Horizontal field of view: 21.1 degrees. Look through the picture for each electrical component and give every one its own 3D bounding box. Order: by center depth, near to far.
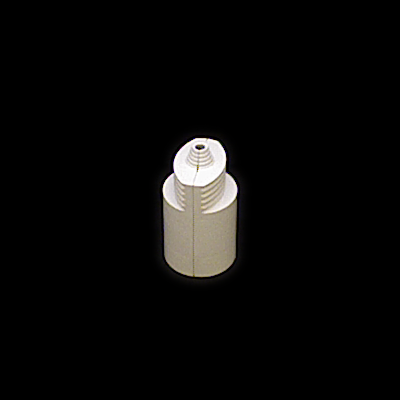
[{"bbox_3d":[0.000,0.000,0.624,0.043,0.082,0.042,1,41,0],"label":"electrical component"}]
